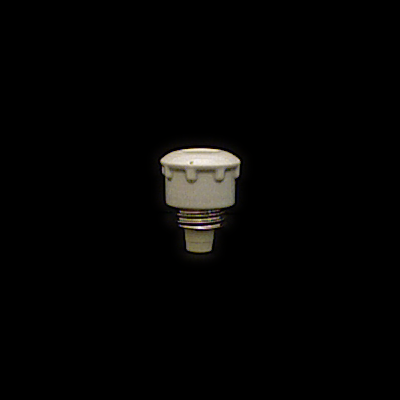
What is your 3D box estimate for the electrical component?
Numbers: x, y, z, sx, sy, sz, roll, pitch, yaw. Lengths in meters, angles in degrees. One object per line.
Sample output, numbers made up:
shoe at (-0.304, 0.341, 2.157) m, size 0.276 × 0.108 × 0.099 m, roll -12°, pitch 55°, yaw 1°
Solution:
electrical component at (0.000, 0.000, 0.649) m, size 0.048 × 0.062 × 0.048 m, roll 1°, pitch 11°, yaw 0°
